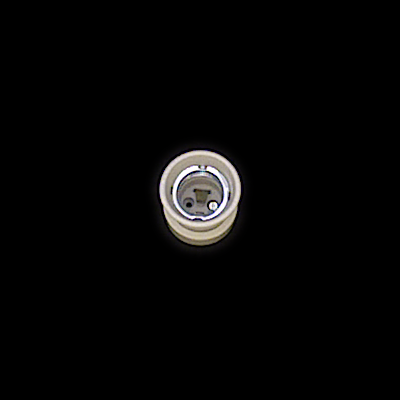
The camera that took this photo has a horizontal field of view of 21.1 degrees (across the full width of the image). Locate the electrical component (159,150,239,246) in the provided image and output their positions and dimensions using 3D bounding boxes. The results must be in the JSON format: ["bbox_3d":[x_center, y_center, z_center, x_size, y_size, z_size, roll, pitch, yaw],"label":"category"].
[{"bbox_3d":[0.000,0.000,0.627,0.045,0.045,0.055,0,-16,1],"label":"electrical component"}]
